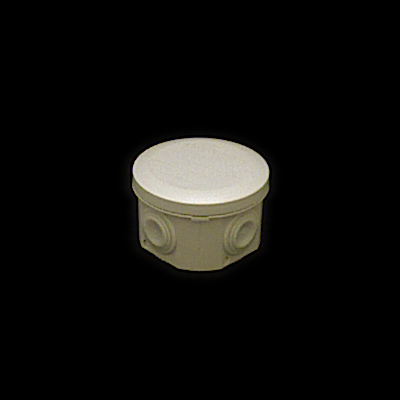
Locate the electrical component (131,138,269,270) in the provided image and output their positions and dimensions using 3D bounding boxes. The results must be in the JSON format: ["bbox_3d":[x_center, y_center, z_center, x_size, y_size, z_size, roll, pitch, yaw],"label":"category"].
[{"bbox_3d":[0.000,0.000,0.635,0.080,0.051,0.079,1,31,0],"label":"electrical component"}]
